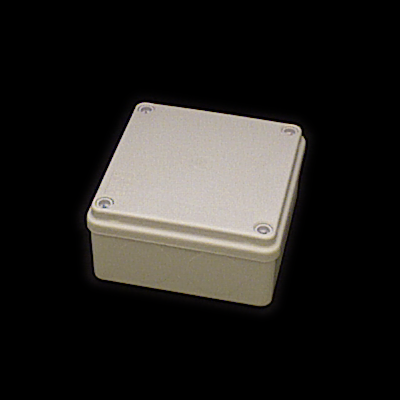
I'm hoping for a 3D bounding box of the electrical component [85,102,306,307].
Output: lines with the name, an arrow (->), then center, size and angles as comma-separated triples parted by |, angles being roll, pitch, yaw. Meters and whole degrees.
electrical component -> 0.000, 0.000, 0.633 | 0.108, 0.057, 0.108 | 9, 43, 8
